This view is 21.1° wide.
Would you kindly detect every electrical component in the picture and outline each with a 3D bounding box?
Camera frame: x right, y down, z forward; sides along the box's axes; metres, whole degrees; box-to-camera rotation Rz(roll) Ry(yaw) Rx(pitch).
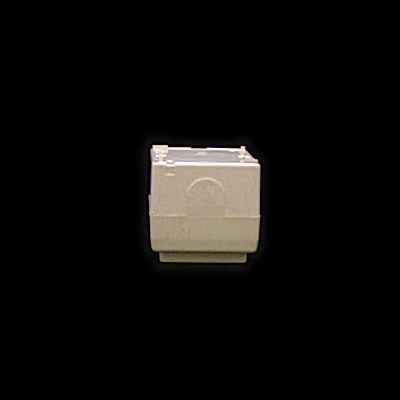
[{"bbox_3d":[0.000,0.000,0.646,0.062,0.061,0.095,0,10,-4],"label":"electrical component"}]
